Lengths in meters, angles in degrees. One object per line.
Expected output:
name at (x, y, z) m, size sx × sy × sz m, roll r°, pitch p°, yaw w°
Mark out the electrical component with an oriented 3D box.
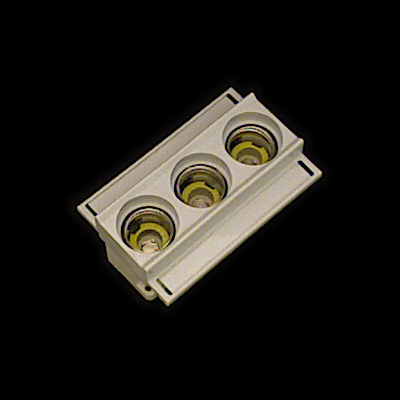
electrical component at (0.000, 0.000, 0.637) m, size 0.121 × 0.078 × 0.063 m, roll -39°, pitch -19°, yaw -17°
